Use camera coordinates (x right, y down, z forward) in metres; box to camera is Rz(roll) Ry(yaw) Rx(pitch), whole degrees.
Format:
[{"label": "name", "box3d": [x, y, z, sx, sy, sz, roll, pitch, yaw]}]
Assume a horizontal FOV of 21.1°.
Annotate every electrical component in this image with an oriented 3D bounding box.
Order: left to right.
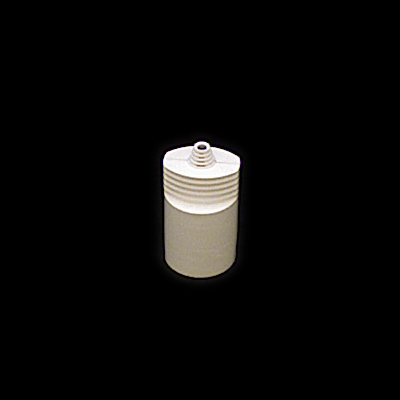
[{"label": "electrical component", "box3d": [0.000, 0.000, 0.623, 0.043, 0.082, 0.042, 1, 42, 0]}]
